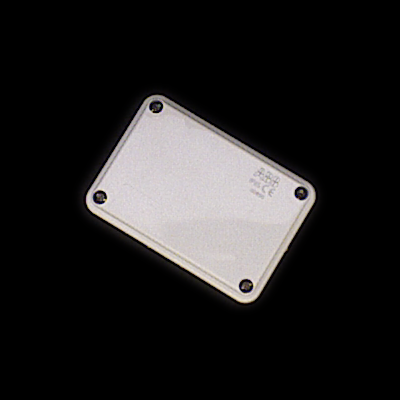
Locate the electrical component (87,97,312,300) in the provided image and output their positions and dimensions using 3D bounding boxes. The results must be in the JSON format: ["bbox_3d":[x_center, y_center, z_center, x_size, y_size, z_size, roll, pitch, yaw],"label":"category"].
[{"bbox_3d":[0.000,0.000,0.628,0.113,0.078,0.057,31,-5,4],"label":"electrical component"}]
